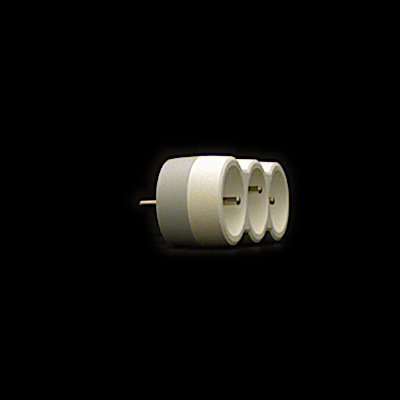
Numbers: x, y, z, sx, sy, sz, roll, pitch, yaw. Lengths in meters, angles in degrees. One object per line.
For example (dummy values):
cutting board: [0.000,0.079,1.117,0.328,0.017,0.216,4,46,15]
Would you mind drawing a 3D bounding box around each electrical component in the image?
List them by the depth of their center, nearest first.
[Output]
electrical component: [0.000,0.000,0.659,0.073,0.052,0.139,0,0,21]
